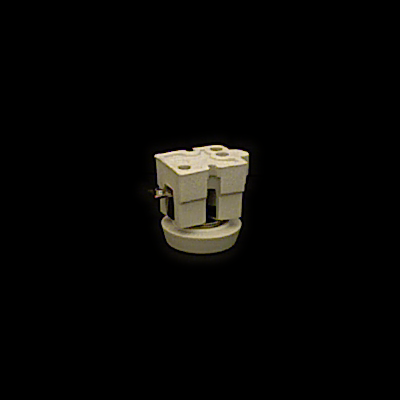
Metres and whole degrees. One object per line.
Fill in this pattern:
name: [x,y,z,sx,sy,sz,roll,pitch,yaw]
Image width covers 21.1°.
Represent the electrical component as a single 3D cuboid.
electrical component: [0.000,0.000,0.648,0.067,0.056,0.047,-10,26,-24]
